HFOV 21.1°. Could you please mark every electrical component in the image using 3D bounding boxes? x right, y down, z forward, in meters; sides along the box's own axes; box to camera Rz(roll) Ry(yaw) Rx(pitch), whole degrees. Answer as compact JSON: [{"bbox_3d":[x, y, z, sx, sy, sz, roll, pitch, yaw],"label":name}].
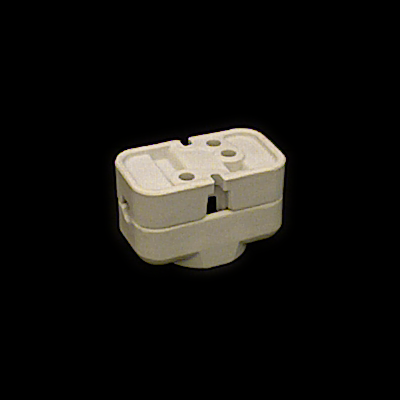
[{"bbox_3d":[0.000,0.000,0.642,0.096,0.060,0.052,-13,35,-21],"label":"electrical component"}]
